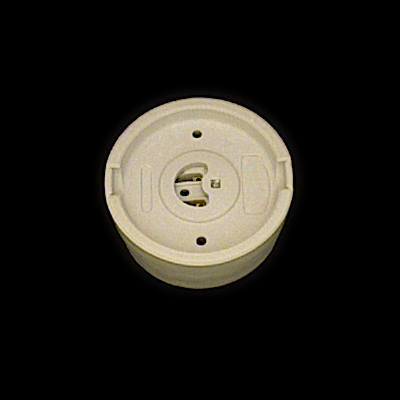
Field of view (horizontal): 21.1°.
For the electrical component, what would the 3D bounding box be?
[{"bbox_3d":[0.000,0.000,0.635,0.108,0.108,0.060,0,-27,0],"label":"electrical component"}]
